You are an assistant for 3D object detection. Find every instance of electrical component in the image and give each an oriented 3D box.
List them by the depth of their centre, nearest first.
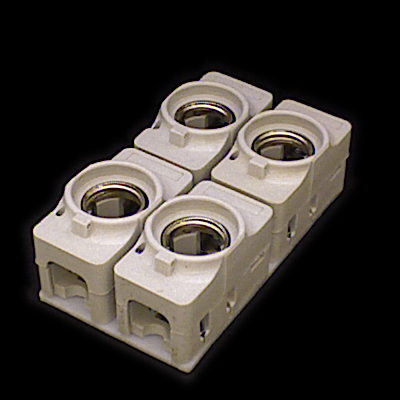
[{"bbox_3d":[0.000,0.000,0.629,0.105,0.061,0.185,24,47,23],"label":"electrical component"}]
